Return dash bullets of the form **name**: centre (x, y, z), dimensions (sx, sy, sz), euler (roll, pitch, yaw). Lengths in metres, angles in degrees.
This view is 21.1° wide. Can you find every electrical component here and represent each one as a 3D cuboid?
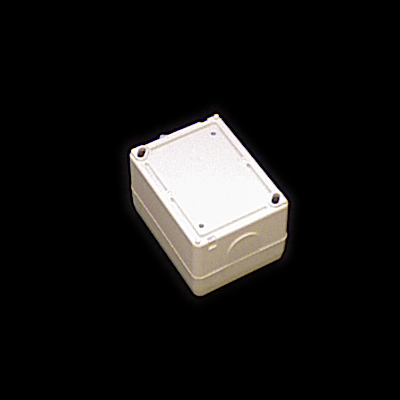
- **electrical component**: centre (0.000, 0.000, 0.631), dimensions (0.062, 0.096, 0.061), euler (-25, -35, -18)
